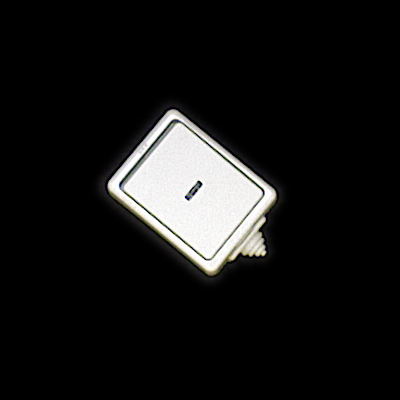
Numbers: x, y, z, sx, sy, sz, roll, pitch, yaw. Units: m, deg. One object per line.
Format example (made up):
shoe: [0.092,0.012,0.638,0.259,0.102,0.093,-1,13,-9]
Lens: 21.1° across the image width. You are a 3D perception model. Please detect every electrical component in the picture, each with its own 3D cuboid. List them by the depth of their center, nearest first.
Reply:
electrical component: [0.000,0.000,0.626,0.096,0.062,0.061,39,-5,5]
